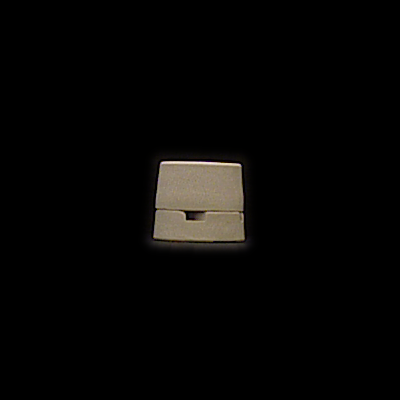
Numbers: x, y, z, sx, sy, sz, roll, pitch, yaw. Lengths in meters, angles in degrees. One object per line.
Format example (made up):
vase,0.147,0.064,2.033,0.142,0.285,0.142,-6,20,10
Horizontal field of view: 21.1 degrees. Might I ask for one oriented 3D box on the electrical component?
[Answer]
electrical component,0.000,0.000,0.648,0.055,0.047,0.055,1,2,0
